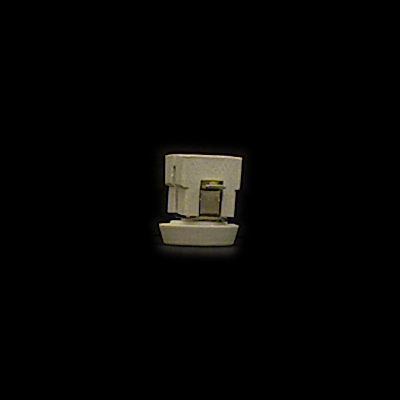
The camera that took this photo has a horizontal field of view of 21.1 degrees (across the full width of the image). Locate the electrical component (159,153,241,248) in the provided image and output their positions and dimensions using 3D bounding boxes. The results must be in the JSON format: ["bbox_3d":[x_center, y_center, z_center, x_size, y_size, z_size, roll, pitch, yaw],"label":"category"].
[{"bbox_3d":[0.000,0.000,0.656,0.049,0.055,0.066,2,2,-16],"label":"electrical component"}]
